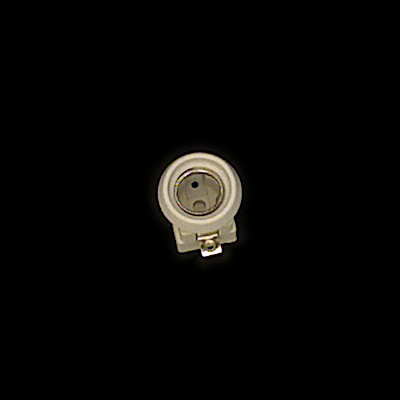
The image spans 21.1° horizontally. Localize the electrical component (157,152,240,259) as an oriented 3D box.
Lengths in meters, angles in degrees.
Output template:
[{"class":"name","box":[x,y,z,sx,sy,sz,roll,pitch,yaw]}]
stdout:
[{"class":"electrical component","box":[0.000,0.000,0.637,0.048,0.066,0.055,-14,-16,-2]}]
